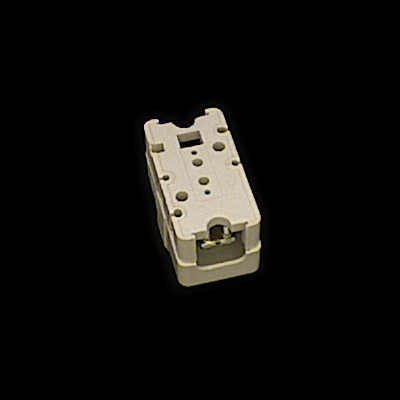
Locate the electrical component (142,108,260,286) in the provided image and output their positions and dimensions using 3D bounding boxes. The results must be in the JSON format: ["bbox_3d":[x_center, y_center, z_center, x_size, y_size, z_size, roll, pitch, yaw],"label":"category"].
[{"bbox_3d":[0.000,0.000,0.637,0.050,0.089,0.056,-12,-36,-8],"label":"electrical component"}]
